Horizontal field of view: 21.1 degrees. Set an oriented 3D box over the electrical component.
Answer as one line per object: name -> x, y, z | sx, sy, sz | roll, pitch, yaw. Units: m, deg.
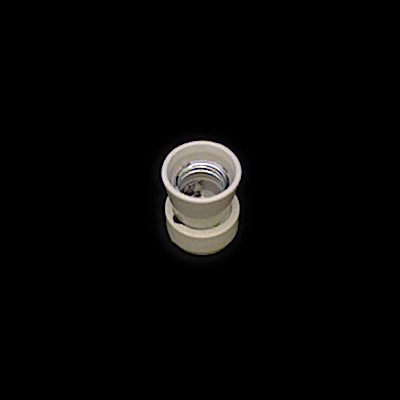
electrical component -> 0.000, 0.000, 0.629 | 0.045, 0.044, 0.055 | 0, -38, 0
